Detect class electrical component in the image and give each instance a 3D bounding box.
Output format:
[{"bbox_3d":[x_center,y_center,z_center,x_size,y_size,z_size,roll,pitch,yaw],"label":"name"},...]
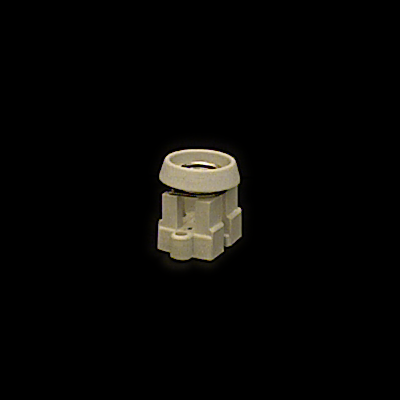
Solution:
[{"bbox_3d":[0.000,0.000,0.648,0.048,0.056,0.066,13,25,22],"label":"electrical component"}]
